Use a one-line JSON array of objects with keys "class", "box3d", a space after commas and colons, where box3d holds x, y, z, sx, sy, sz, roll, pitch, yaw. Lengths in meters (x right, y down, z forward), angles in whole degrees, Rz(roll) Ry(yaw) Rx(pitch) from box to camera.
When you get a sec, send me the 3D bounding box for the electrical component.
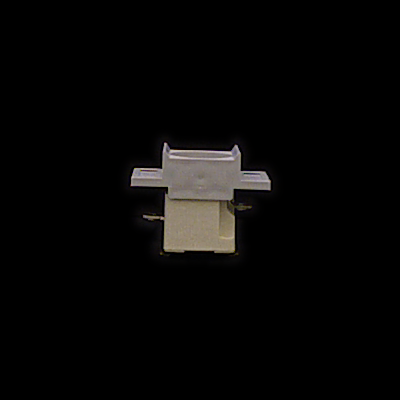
[{"class": "electrical component", "box3d": [0.000, 0.000, 0.643, 0.081, 0.064, 0.042, 2, 12, -1]}]
